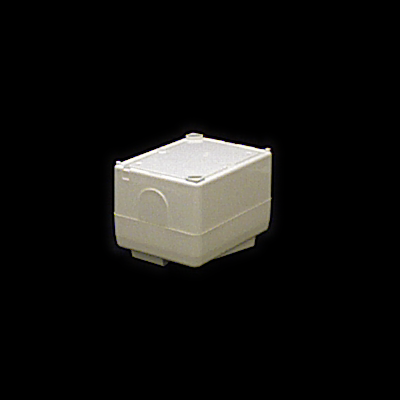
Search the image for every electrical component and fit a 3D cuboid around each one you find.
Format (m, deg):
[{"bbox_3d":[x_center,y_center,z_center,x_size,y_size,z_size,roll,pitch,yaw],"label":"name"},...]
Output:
[{"bbox_3d":[0.000,0.000,0.646,0.061,0.062,0.095,14,25,33],"label":"electrical component"}]
